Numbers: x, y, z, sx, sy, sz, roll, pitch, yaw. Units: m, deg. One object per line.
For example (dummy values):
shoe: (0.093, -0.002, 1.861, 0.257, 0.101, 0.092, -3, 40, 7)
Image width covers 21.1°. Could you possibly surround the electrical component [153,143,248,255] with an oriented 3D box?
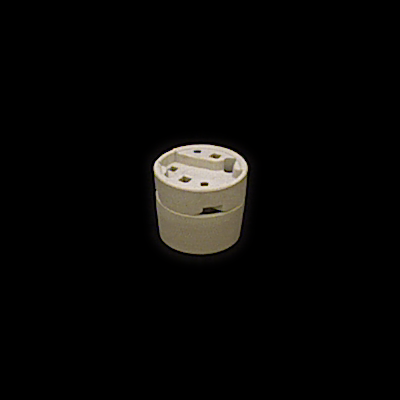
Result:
electrical component: (0.000, 0.000, 0.638, 0.055, 0.047, 0.055, 1, 31, 0)
